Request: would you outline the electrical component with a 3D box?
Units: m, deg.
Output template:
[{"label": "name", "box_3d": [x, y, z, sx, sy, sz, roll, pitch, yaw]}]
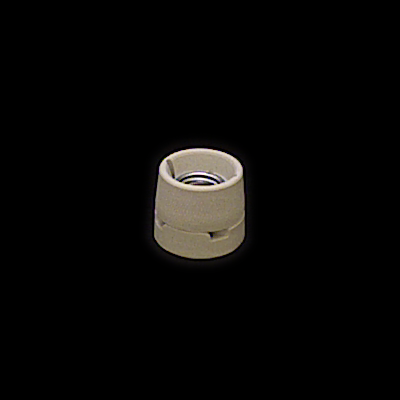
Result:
[{"label": "electrical component", "box_3d": [0.000, 0.000, 0.637, 0.055, 0.047, 0.055, 1, 32, -1]}]
